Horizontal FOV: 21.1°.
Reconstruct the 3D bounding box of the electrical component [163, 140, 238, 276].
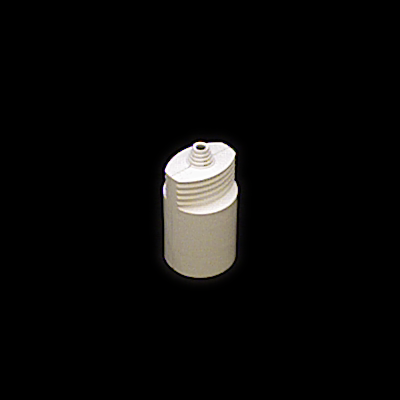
[{"bbox_3d":[0.000,0.000,0.624,0.043,0.082,0.042,1,42,0],"label":"electrical component"}]
